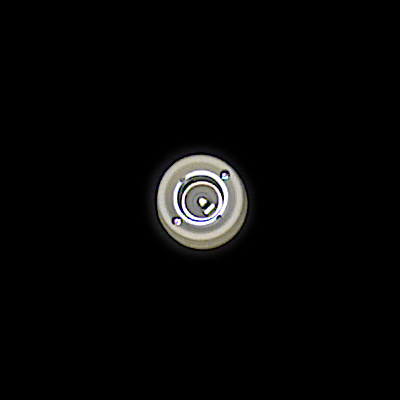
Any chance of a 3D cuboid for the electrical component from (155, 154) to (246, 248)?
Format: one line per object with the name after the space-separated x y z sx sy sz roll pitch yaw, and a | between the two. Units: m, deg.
0.000 0.000 0.633 0.055 0.055 0.047 0 -6 1 | electrical component
